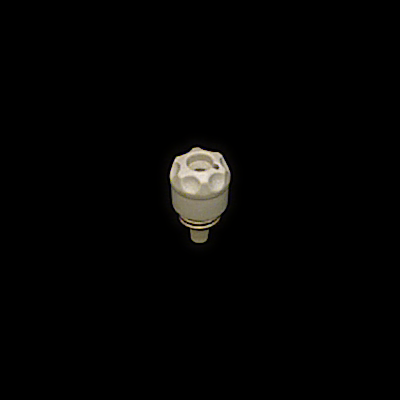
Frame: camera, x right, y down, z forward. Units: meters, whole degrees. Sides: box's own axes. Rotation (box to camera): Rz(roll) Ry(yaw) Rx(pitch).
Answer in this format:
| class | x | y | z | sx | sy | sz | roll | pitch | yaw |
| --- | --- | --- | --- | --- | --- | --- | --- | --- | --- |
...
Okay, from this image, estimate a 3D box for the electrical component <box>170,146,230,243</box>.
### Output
| class | x | y | z | sx | sy | sz | roll | pitch | yaw |
| --- | --- | --- | --- | --- | --- | --- | --- | --- | --- |
| electrical component | 0.000 | 0.000 | 0.636 | 0.035 | 0.062 | 0.035 | 0 | 43 | 0 |
